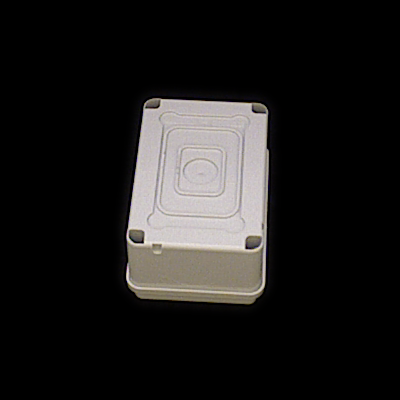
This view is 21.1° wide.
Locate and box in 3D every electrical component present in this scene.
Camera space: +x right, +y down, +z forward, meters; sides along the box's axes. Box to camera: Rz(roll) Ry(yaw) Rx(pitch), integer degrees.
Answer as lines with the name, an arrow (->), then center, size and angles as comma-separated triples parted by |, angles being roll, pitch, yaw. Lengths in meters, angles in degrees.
electrical component -> 0.000, 0.000, 0.629 | 0.078, 0.112, 0.057 | 3, -38, 2
